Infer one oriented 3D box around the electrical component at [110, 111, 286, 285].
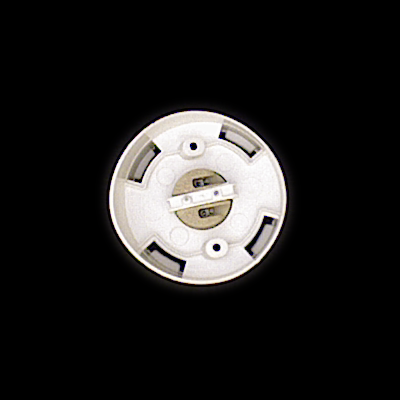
[{"bbox_3d":[0.000,0.000,0.624,0.099,0.099,0.064,0,-6,1],"label":"electrical component"}]
